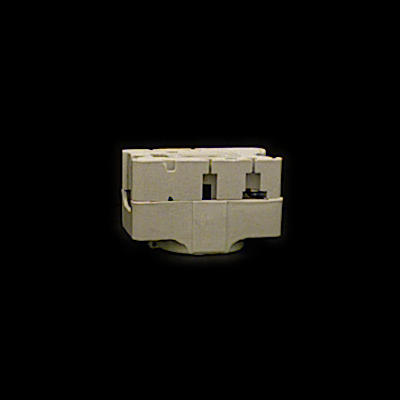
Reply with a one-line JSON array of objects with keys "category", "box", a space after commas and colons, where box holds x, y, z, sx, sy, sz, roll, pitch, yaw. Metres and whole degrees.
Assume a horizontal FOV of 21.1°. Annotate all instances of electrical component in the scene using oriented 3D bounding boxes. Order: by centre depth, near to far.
[{"category": "electrical component", "box": [0.000, 0.000, 0.650, 0.090, 0.056, 0.049, -2, 13, -13]}]
